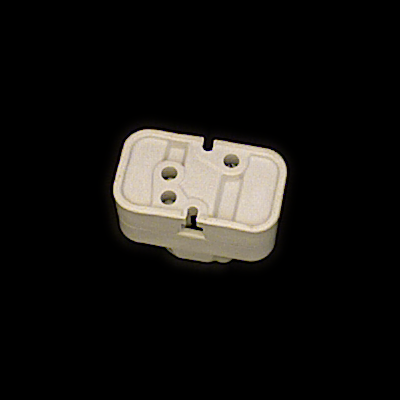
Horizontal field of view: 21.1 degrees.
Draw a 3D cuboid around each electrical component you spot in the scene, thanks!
[{"bbox_3d":[0.000,0.000,0.634,0.095,0.054,0.059,10,-26,4],"label":"electrical component"}]
